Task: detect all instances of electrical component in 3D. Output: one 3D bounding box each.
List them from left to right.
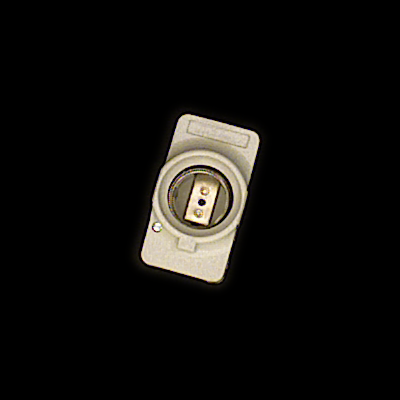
[{"bbox_3d":[0.000,0.000,0.637,0.050,0.090,0.055,15,-6,2],"label":"electrical component"}]
